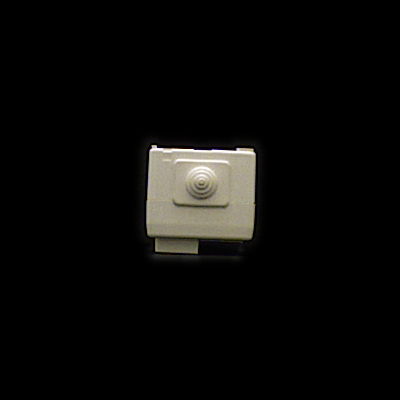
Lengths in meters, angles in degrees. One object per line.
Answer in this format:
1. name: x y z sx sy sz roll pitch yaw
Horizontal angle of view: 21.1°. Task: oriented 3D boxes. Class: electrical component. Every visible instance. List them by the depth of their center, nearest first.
1. electrical component: 0.000 0.000 0.642 0.062 0.061 0.096 2 0 -1
